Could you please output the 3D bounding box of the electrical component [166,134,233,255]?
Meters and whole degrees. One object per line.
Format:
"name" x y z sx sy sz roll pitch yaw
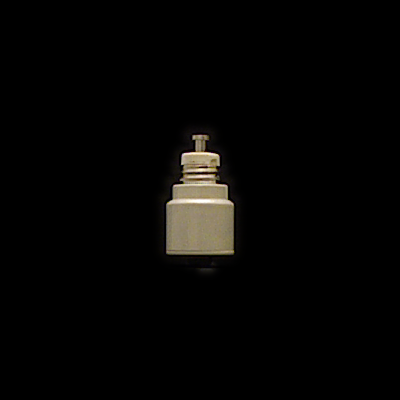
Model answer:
"electrical component" 0.000 0.000 0.649 0.040 0.078 0.040 0 1 0
